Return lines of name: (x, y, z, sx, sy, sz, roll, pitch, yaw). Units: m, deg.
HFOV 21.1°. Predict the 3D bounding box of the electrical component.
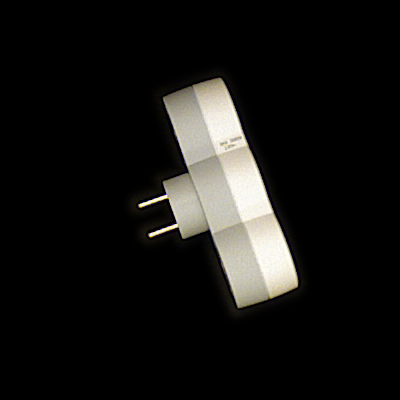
electrical component: (0.000, 0.000, 0.638, 0.074, 0.138, 0.052, -19, -15, -4)
